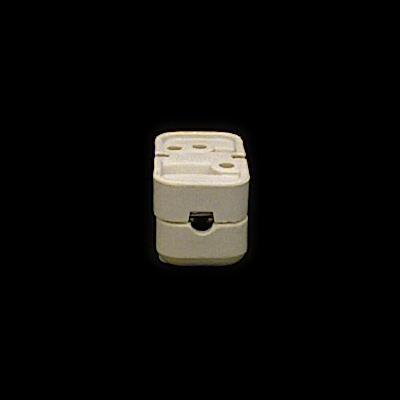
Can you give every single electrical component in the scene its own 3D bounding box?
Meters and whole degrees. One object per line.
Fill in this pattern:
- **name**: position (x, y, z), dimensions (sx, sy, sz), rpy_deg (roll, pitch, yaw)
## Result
- **electrical component**: position (0.000, 0.000, 0.644), dimensions (0.054, 0.060, 0.094), rpy_deg (0, 22, -2)
